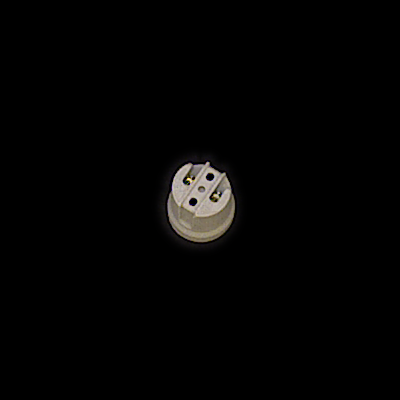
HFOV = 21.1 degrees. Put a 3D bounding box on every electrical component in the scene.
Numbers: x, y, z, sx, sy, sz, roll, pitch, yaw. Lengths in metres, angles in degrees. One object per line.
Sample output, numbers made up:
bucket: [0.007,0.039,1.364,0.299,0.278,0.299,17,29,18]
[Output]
electrical component: [0.000,0.000,0.633,0.040,0.040,0.046,0,-16,0]
